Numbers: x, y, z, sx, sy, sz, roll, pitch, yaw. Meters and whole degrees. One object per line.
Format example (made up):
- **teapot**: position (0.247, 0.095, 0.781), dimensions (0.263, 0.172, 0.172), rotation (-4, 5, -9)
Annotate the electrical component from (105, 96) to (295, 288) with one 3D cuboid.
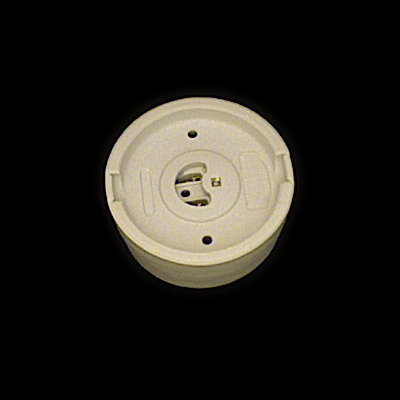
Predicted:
- **electrical component**: position (0.000, 0.000, 0.635), dimensions (0.108, 0.108, 0.060), rotation (0, -27, 0)
